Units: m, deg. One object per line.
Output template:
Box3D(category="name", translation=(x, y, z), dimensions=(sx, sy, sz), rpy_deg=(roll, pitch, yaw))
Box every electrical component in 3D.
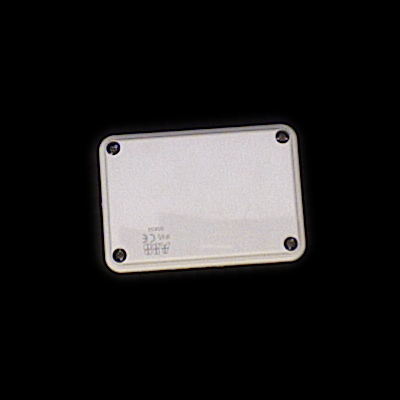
Box3D(category="electrical component", translation=(0.000, 0.000, 0.627), dimensions=(0.113, 0.078, 0.057), rpy_deg=(-4, -7, 0))
